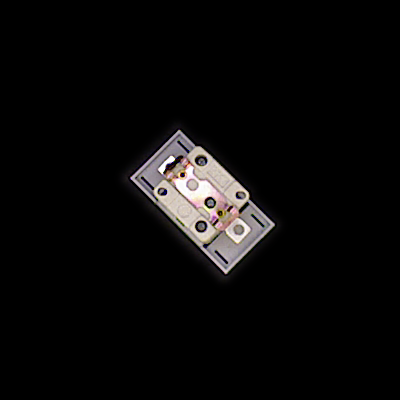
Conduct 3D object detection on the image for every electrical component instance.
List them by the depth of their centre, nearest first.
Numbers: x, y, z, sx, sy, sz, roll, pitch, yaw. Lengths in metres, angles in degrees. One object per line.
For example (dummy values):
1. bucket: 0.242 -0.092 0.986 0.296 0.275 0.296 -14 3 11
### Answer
1. electrical component: 0.000 0.000 0.626 0.081 0.042 0.063 44 -4 5
